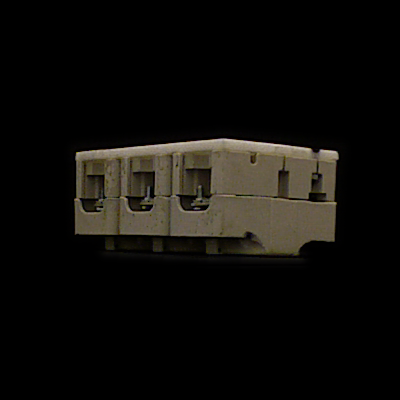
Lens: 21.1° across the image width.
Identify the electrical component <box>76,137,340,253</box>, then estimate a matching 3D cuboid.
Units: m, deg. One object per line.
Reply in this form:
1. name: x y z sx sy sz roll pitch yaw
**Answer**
1. electrical component: 0.000 0.000 0.657 0.090 0.062 0.149 2 -1 -38
